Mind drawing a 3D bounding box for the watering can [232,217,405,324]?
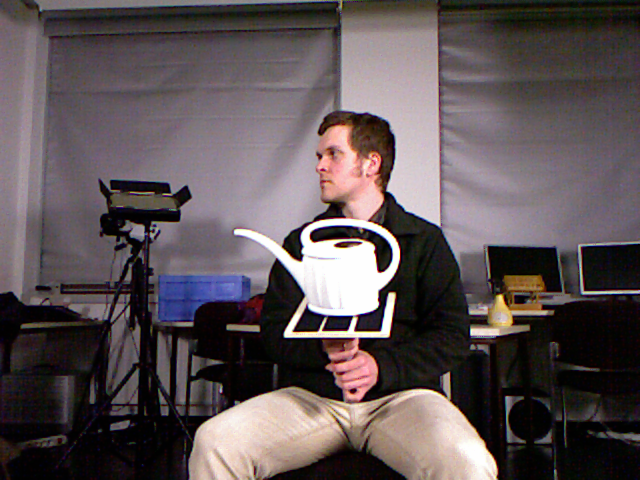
[{"bbox_3d":[-0.001,0.060,1.053,0.348,0.221,0.106,-1,19,13],"label":"watering can"}]
